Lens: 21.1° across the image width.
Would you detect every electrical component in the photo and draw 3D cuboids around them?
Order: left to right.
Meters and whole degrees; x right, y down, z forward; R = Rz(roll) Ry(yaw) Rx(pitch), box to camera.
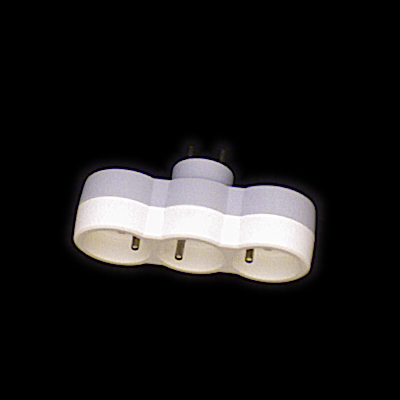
[{"bbox_3d":[0.000,0.000,0.631,0.138,0.074,0.052,6,-29,4],"label":"electrical component"}]
